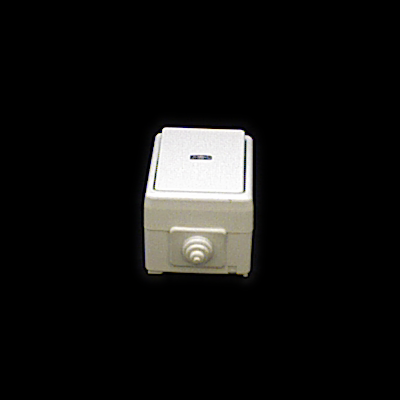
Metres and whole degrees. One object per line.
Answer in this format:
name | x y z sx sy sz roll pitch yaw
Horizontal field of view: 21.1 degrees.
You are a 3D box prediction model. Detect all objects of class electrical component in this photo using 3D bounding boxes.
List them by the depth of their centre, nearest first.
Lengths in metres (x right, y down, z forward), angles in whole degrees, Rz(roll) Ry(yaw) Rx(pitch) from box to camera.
electrical component | 0.000 0.000 0.632 0.062 0.061 0.095 2 31 2
